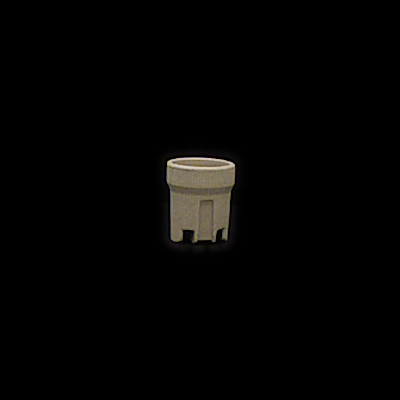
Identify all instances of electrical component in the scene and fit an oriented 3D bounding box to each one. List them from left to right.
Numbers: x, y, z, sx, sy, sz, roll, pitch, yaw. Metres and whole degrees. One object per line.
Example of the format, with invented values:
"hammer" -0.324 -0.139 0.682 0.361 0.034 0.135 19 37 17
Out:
"electrical component" 0.000 0.000 0.642 0.040 0.046 0.040 1 11 0
